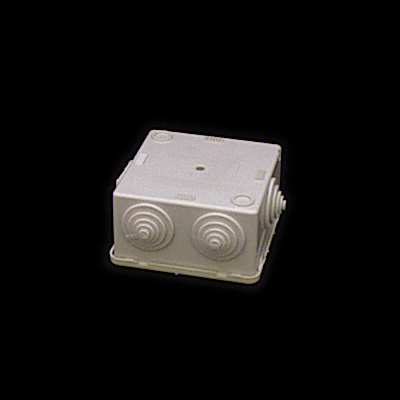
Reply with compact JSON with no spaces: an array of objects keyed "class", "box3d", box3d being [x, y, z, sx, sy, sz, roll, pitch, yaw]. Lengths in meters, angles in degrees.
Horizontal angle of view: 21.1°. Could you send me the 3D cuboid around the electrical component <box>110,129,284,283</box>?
[{"class":"electrical component","box3d":[0.000,0.000,0.637,0.099,0.049,0.098,8,32,11]}]
